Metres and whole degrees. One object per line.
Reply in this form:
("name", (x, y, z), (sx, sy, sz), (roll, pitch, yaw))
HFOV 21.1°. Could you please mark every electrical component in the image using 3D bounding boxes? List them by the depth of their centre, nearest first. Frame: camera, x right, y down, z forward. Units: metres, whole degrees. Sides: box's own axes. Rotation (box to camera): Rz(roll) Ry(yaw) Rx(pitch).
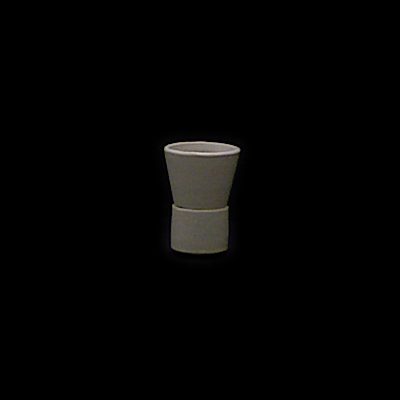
("electrical component", (0.000, 0.000, 0.642), (0.044, 0.066, 0.044), (2, 12, 0))
